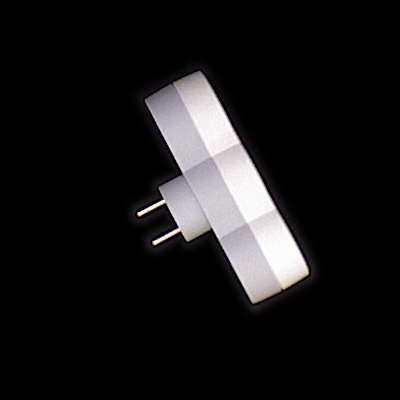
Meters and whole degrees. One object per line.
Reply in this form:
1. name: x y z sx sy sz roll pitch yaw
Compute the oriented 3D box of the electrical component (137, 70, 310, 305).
1. electrical component: 0.000 0.000 0.631 0.074 0.138 0.052 -28 -5 -1
